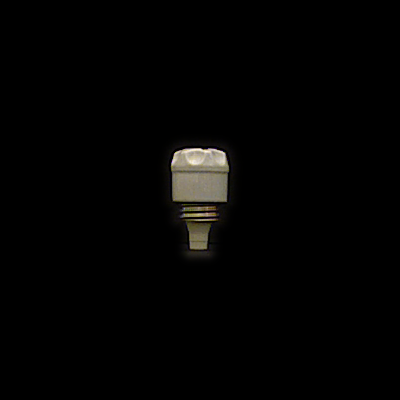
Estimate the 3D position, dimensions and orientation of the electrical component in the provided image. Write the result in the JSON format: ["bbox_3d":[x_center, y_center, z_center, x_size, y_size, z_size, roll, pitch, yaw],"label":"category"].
[{"bbox_3d":[0.000,0.000,0.654,0.035,0.061,0.035,1,2,0],"label":"electrical component"}]
